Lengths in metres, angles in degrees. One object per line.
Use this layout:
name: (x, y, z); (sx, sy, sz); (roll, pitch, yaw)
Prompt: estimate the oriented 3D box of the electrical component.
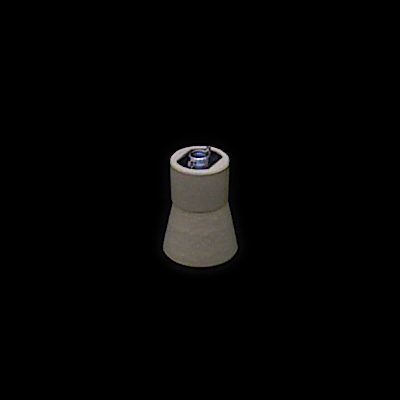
electrical component: (0.000, 0.000, 0.634); (0.044, 0.066, 0.044); (0, 31, 0)
